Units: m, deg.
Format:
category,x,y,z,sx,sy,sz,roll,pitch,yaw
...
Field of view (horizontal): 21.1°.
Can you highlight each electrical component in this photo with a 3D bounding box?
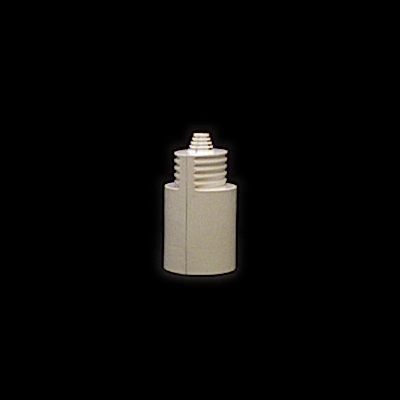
category,x,y,z,sx,sy,sz,roll,pitch,yaw
electrical component,0.000,0.000,0.643,0.043,0.081,0.043,1,11,0
